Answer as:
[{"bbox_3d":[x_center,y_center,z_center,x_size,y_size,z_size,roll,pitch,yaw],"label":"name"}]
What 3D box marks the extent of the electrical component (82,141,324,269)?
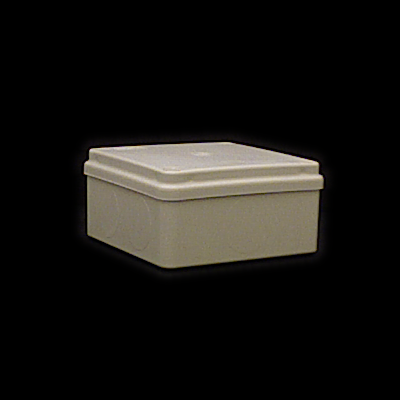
[{"bbox_3d":[0.000,0.000,0.644,0.109,0.056,0.108,-5,12,-30],"label":"electrical component"}]
